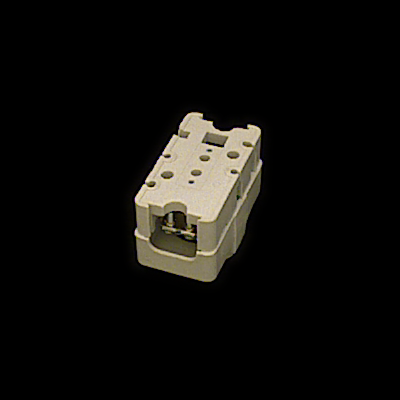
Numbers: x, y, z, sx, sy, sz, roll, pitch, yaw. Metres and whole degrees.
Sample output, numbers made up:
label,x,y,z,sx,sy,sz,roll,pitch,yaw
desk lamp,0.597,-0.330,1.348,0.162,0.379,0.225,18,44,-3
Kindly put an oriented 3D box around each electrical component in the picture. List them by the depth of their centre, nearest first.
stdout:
label,x,y,z,sx,sy,sz,roll,pitch,yaw
electrical component,0.000,0.000,0.639,0.050,0.056,0.089,14,44,15
